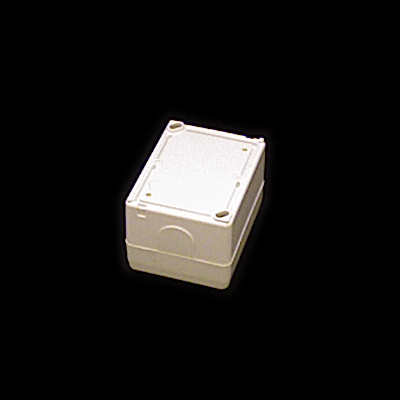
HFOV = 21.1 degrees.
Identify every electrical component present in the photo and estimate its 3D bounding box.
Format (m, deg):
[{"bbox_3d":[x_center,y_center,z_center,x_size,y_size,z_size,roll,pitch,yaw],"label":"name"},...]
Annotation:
[{"bbox_3d":[0.000,0.000,0.632,0.061,0.061,0.095,12,42,12],"label":"electrical component"}]
